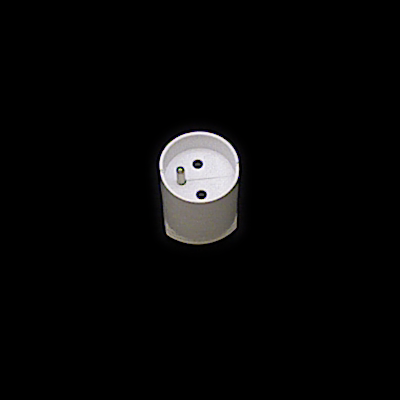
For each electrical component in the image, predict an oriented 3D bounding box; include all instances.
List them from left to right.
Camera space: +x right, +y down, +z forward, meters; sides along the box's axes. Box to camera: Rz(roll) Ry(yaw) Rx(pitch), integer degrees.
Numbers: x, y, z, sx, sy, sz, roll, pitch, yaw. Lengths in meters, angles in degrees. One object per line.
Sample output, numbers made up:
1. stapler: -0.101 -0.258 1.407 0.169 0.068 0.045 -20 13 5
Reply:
1. electrical component: 0.000 0.000 0.615 0.043 0.043 0.081 0 -28 1
